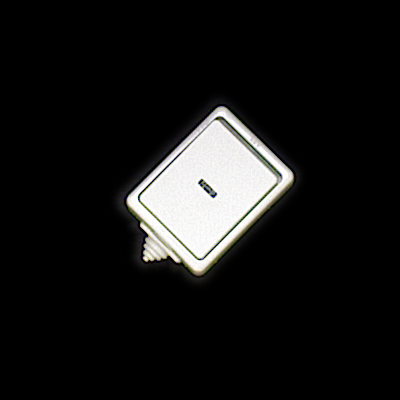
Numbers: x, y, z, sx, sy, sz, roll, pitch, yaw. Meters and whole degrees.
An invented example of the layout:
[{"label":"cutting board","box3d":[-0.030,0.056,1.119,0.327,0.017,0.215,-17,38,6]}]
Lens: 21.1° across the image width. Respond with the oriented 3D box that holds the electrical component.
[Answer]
[{"label":"electrical component","box3d":[0.000,0.000,0.626,0.062,0.096,0.061,44,-4,5]}]
